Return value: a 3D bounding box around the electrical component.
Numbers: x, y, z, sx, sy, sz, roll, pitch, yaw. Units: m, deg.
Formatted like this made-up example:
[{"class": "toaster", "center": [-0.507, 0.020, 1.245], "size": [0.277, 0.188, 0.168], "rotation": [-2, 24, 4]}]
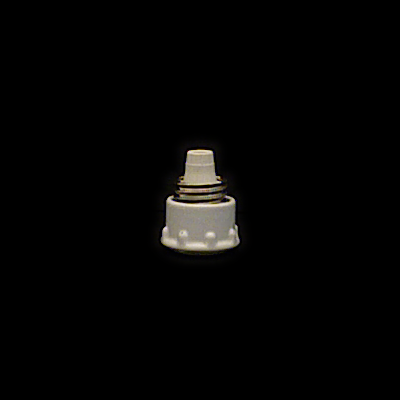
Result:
[{"class": "electrical component", "center": [0.000, 0.000, 0.649], "size": [0.048, 0.062, 0.048], "rotation": [0, 12, 1]}]
